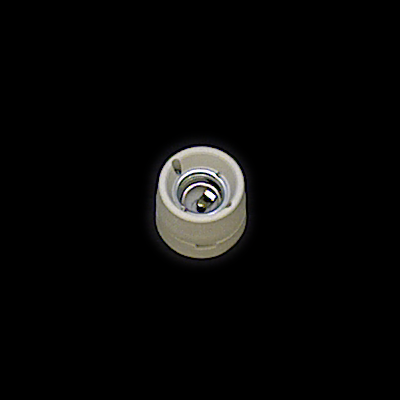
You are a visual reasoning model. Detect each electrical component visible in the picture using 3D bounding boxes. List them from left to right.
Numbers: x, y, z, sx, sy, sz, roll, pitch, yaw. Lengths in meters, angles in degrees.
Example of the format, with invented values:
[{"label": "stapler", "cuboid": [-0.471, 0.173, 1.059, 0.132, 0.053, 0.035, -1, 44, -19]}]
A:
[{"label": "electrical component", "cuboid": [0.000, 0.000, 0.632, 0.055, 0.056, 0.047, 0, -26, -1]}]
